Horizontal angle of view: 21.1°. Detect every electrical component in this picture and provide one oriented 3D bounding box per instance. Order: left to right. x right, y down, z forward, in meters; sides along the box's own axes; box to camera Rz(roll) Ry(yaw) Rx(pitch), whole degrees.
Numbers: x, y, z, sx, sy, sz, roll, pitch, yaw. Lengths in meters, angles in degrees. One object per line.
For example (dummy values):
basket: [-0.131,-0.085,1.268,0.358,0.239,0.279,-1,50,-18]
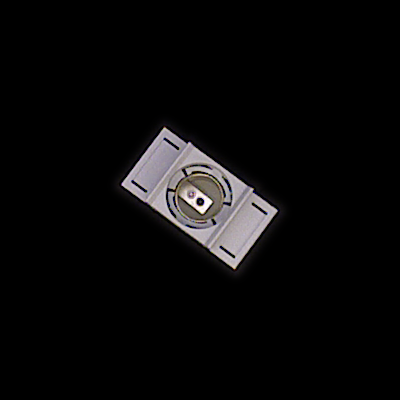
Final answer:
electrical component: [0.000,0.000,0.625,0.081,0.042,0.063,37,-3,3]
